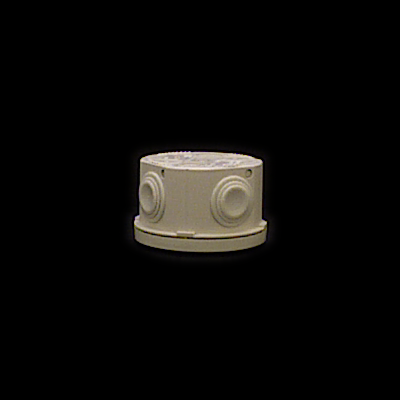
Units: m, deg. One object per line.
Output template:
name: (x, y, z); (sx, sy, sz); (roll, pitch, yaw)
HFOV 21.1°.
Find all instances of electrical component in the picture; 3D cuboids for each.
electrical component: (0.000, 0.000, 0.645); (0.080, 0.051, 0.079); (1, 10, 0)
